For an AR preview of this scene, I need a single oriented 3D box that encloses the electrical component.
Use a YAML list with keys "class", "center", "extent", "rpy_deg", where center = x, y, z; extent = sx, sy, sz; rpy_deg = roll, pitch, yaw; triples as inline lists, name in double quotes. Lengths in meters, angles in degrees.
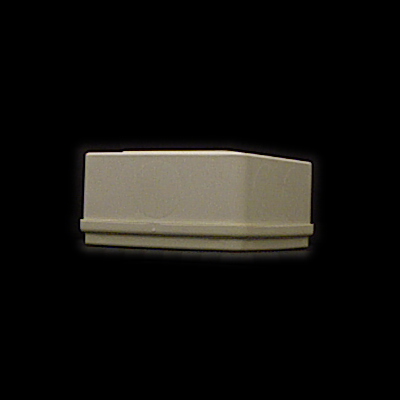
- class: "electrical component"
  center: [0.000, 0.000, 0.652]
  extent: [0.108, 0.056, 0.109]
  rpy_deg: [2, 0, 28]
